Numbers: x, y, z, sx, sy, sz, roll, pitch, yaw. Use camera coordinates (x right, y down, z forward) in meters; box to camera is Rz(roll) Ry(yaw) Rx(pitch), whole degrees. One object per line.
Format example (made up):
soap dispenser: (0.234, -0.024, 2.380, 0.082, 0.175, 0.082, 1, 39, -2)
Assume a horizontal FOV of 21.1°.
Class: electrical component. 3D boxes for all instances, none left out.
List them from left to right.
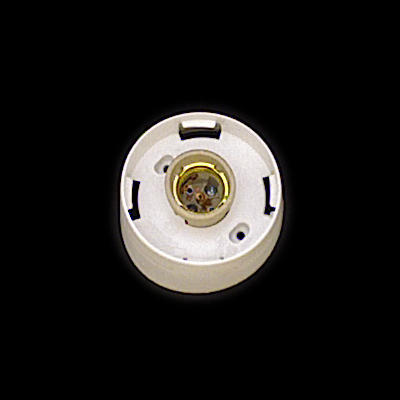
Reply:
electrical component: (0.000, 0.000, 0.625, 0.099, 0.099, 0.064, 0, -17, 0)
